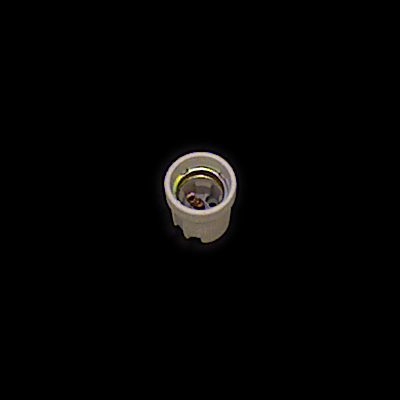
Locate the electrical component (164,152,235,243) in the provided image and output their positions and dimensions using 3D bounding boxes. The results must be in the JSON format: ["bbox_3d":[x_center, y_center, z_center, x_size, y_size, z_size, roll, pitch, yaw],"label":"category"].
[{"bbox_3d":[0.000,0.000,0.627,0.040,0.040,0.046,0,-27,0],"label":"electrical component"}]
